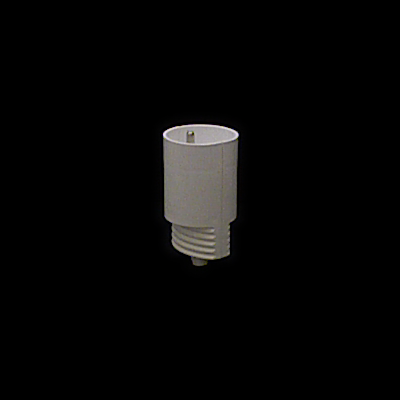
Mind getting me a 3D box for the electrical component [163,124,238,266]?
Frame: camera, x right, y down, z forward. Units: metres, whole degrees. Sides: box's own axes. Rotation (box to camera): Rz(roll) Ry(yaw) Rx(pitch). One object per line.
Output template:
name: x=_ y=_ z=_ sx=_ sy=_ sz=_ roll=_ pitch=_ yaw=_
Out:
electrical component: x=0.000 y=0.000 z=0.634 sx=0.043 sy=0.082 sz=0.042 roll=1 pitch=20 yaw=0
